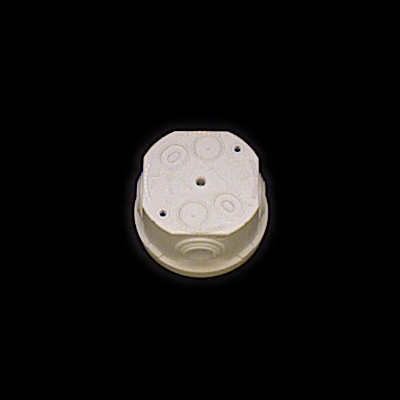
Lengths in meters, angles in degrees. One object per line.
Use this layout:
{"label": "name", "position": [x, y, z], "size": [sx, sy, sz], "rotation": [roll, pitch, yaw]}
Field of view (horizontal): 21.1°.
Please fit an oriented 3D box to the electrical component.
{"label": "electrical component", "position": [0.000, 0.000, 0.631], "size": [0.080, 0.080, 0.050], "rotation": [0, -27, 0]}
